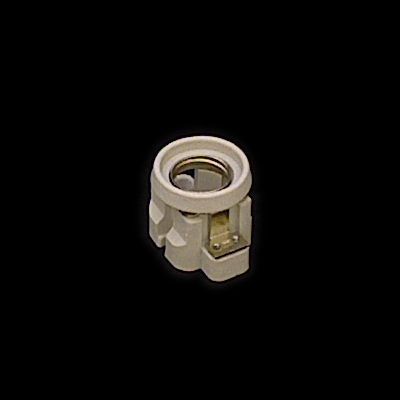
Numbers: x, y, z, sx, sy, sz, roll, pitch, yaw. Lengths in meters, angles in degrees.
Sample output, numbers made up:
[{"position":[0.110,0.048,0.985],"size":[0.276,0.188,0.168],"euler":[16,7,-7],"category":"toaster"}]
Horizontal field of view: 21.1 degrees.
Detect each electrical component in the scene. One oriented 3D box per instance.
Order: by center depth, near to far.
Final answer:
[{"position":[0.000,0.000,0.631],"size":[0.058,0.057,0.078],"euler":[-20,47,-22],"category":"electrical component"}]
